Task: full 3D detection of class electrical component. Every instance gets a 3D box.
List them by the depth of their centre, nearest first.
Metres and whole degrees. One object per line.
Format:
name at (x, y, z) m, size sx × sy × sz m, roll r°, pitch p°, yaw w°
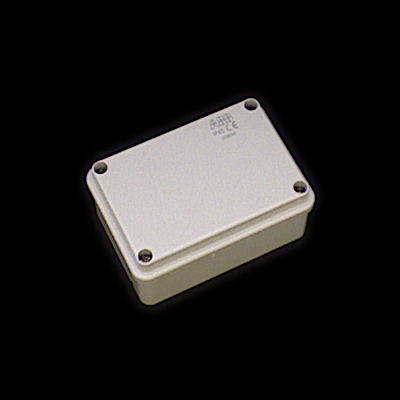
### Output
electrical component at (0.000, 0.000, 0.628) m, size 0.113 × 0.078 × 0.057 m, roll -24°, pitch -25°, yaw -12°
